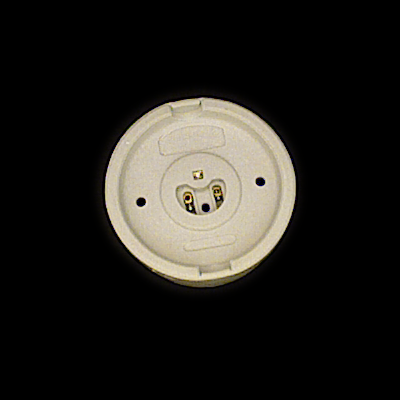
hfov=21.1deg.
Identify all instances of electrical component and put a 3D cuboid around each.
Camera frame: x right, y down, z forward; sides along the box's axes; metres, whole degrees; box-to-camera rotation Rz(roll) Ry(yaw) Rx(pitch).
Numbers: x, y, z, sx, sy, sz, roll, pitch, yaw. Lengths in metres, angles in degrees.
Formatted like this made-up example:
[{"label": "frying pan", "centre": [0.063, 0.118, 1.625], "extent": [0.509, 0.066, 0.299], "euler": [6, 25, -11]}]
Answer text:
[{"label": "electrical component", "centre": [0.000, 0.000, 0.634], "extent": [0.108, 0.108, 0.060], "euler": [0, -16, 0]}]
